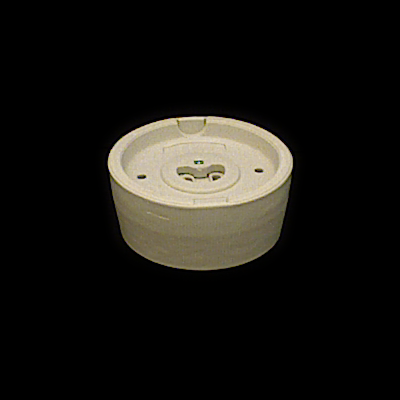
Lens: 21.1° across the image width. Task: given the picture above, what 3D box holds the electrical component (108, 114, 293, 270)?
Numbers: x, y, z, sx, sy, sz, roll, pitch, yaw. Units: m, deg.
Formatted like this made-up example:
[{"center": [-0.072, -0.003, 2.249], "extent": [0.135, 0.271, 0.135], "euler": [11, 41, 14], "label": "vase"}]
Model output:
[{"center": [0.000, 0.000, 0.644], "extent": [0.108, 0.061, 0.106], "euler": [1, 32, 0], "label": "electrical component"}]
